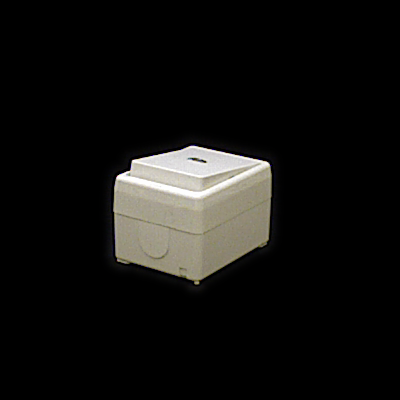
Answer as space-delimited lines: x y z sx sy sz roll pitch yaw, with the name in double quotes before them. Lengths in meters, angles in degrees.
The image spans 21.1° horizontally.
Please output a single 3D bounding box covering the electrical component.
"electrical component" 0.000 0.000 0.640 0.061 0.061 0.095 15 24 31
